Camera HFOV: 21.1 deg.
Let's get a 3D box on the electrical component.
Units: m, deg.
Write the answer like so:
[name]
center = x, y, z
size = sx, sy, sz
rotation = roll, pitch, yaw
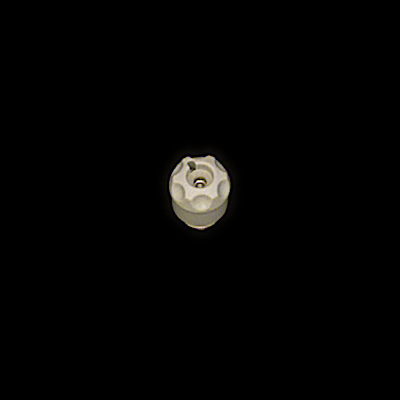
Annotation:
[electrical component]
center = 0.000, 0.000, 0.635
size = 0.035, 0.035, 0.061
rotation = 0, -27, 0
